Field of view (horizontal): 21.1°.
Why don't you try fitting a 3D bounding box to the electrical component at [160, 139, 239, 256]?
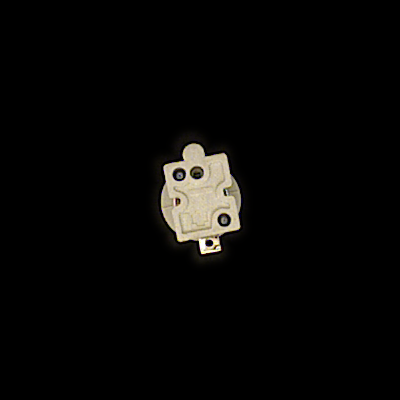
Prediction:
[{"bbox_3d":[0.000,0.000,0.639,0.048,0.066,0.055,-11,-5,-1],"label":"electrical component"}]
